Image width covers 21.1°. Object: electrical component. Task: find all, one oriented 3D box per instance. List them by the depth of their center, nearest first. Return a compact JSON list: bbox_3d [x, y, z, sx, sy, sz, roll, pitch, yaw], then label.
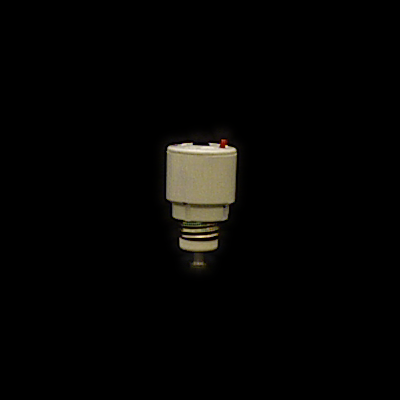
[{"bbox_3d":[0.000,0.000,0.640,0.040,0.079,0.040,2,11,0],"label":"electrical component"}]
